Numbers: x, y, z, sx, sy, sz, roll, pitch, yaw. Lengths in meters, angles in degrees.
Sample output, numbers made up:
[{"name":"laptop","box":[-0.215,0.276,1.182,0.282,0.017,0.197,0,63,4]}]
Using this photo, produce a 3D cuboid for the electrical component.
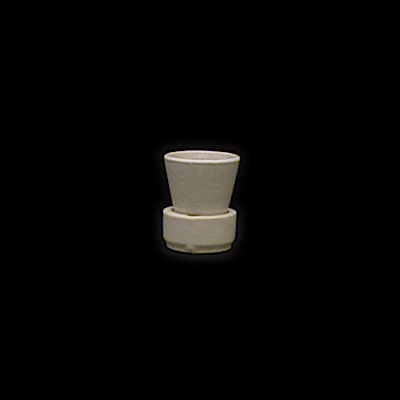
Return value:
[{"name":"electrical component","box":[0.000,0.000,0.646,0.045,0.055,0.044,2,12,0]}]
